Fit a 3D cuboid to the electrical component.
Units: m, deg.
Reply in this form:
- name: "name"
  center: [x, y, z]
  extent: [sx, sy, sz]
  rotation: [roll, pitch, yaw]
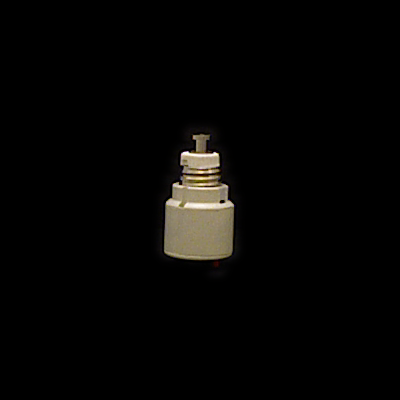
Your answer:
- name: "electrical component"
  center: [0.000, 0.000, 0.641]
  extent: [0.040, 0.079, 0.040]
  rotation: [1, 10, 0]
